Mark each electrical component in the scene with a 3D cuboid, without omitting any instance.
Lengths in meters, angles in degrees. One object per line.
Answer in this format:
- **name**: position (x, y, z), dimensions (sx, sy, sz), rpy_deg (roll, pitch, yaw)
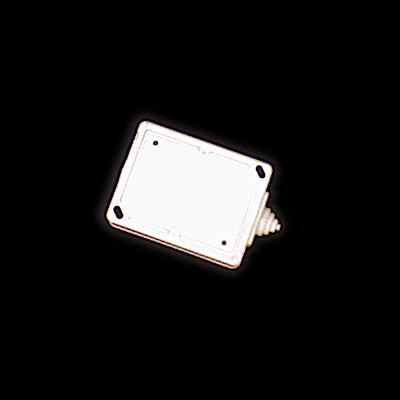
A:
- **electrical component**: position (0.000, 0.000, 0.629), dimensions (0.096, 0.062, 0.061), rpy_deg (20, -6, 2)
